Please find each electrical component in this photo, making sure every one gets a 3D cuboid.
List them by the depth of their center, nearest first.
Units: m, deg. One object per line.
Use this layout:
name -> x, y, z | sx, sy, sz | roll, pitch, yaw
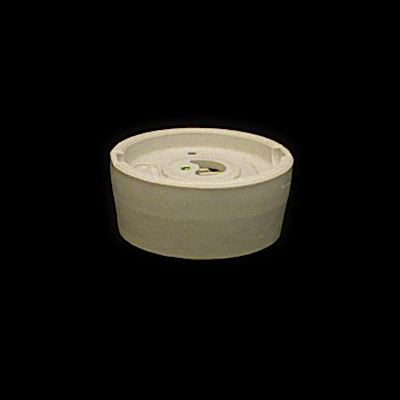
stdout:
electrical component -> 0.000, 0.000, 0.643 | 0.108, 0.061, 0.106 | 2, 21, 0
